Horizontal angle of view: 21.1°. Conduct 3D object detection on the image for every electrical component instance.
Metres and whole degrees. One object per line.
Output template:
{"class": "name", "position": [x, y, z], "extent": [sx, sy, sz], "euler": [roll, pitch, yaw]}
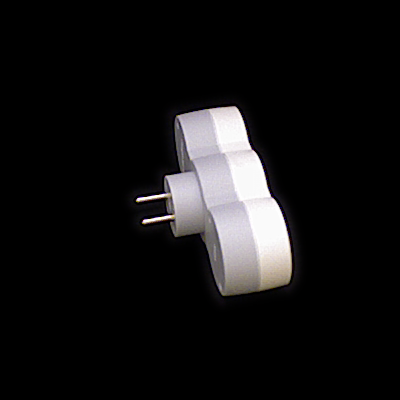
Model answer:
{"class": "electrical component", "position": [0.000, 0.000, 0.631], "extent": [0.074, 0.052, 0.137], "euler": [-10, 44, -9]}
